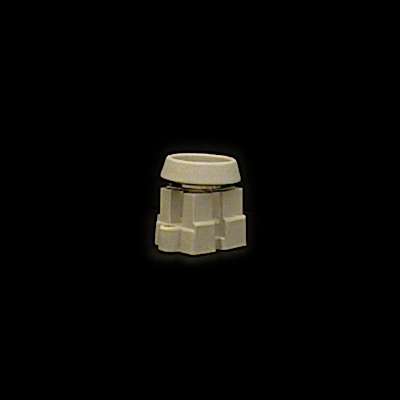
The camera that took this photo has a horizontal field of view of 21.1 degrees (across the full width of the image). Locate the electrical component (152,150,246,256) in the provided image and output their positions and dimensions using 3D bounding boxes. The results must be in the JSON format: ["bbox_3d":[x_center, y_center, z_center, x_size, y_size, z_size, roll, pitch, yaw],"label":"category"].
[{"bbox_3d":[0.000,0.000,0.653,0.067,0.056,0.047,-9,17,-41],"label":"electrical component"}]
